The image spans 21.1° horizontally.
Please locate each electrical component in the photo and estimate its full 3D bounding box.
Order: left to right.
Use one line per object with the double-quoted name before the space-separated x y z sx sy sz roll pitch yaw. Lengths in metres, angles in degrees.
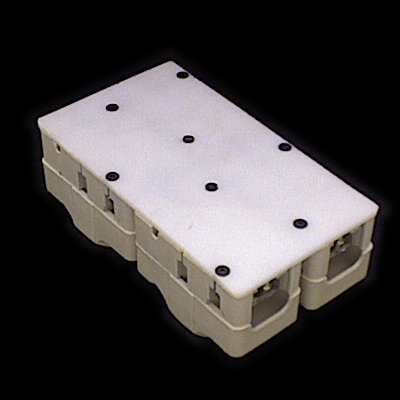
"electrical component" 0.000 0.000 0.630 0.105 0.061 0.184 -29 50 -29
